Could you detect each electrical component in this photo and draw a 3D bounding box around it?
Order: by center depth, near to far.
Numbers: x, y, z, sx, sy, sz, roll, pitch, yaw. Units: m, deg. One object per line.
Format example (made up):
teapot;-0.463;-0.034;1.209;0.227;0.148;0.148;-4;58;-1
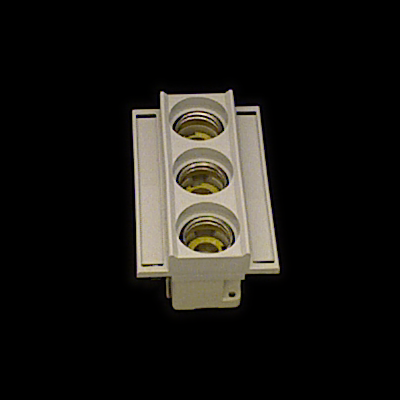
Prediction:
electrical component;0.000;0.000;0.640;0.079;0.120;0.063;-2;-37;-3
